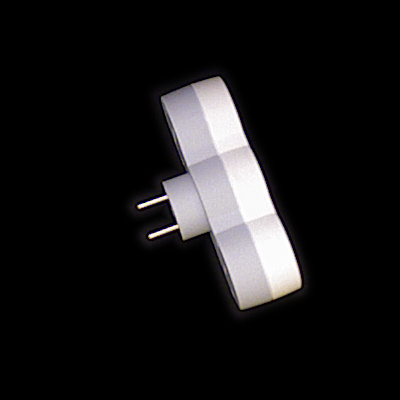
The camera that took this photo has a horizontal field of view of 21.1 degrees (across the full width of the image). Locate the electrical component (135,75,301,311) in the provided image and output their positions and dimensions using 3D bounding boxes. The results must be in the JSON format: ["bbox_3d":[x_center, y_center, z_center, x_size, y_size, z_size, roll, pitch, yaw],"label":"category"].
[{"bbox_3d":[0.000,0.000,0.629,0.074,0.139,0.052,-20,-15,-4],"label":"electrical component"}]
